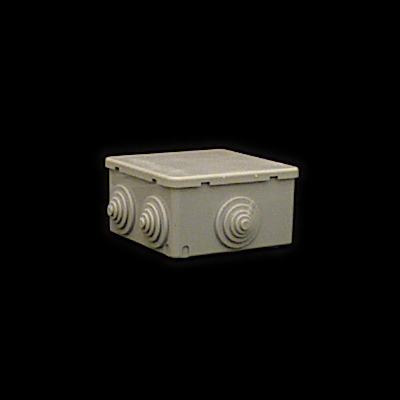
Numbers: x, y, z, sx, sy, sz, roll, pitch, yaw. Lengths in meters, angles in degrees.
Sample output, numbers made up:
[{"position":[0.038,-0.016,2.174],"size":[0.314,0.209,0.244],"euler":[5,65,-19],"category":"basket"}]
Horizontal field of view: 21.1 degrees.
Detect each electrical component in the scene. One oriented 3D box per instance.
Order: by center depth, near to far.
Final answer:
[{"position":[0.000,0.000,0.651],"size":[0.100,0.049,0.098],"euler":[-6,13,-31],"category":"electrical component"}]
